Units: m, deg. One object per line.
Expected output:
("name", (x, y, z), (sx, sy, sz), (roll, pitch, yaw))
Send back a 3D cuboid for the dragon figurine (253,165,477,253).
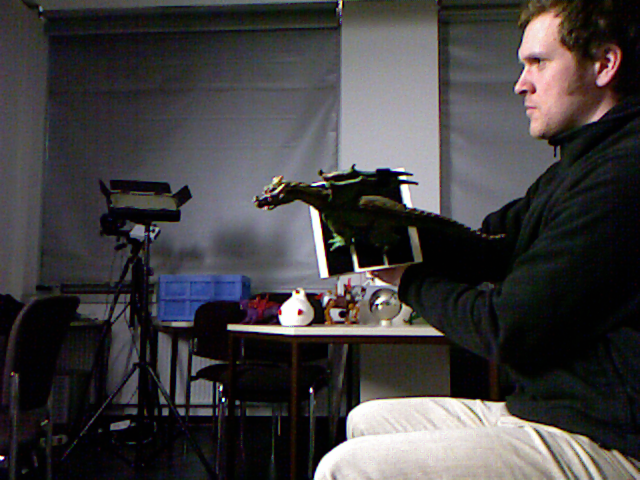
("dragon figurine", (0.091, -0.063, 0.916), (0.412, 0.124, 0.241), (1, -14, 5))
